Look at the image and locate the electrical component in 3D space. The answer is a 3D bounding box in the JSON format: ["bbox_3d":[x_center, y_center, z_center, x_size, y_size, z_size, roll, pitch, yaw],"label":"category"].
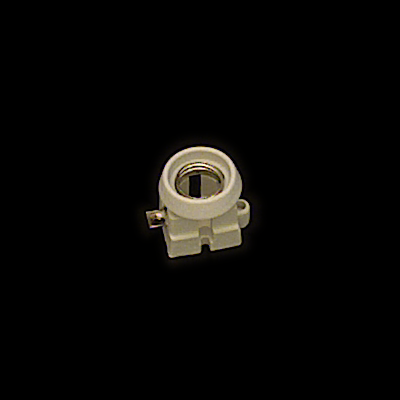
[{"bbox_3d":[0.000,0.000,0.637,0.067,0.048,0.055,-11,-38,-9],"label":"electrical component"}]
